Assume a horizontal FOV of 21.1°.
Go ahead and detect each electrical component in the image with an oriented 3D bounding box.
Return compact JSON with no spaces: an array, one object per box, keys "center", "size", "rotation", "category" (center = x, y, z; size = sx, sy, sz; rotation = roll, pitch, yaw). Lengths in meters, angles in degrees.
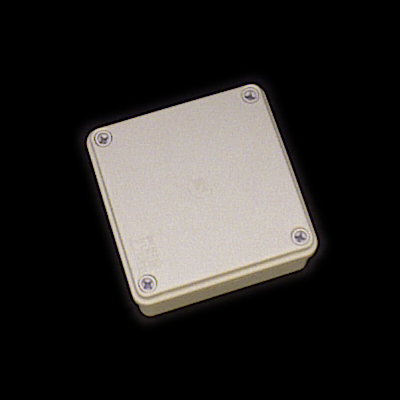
[{"center":[0.000,0.000,0.630],"size":[0.109,0.109,0.056],"rotation":[-17,-16,-6],"category":"electrical component"}]
